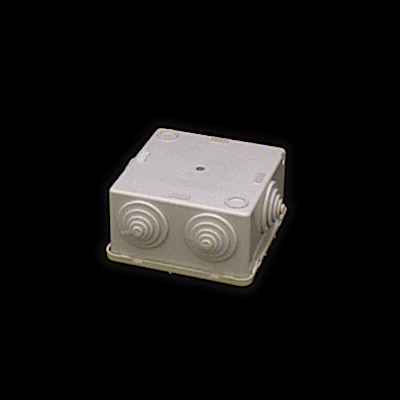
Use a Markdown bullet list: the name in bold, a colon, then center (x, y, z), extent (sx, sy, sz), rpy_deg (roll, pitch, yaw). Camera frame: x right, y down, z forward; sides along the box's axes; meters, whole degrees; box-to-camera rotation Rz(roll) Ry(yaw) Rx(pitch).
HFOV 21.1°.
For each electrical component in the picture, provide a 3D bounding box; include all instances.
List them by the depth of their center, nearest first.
- **electrical component**: center (0.000, 0.000, 0.637), extent (0.099, 0.049, 0.099), rpy_deg (10, 33, 15)
